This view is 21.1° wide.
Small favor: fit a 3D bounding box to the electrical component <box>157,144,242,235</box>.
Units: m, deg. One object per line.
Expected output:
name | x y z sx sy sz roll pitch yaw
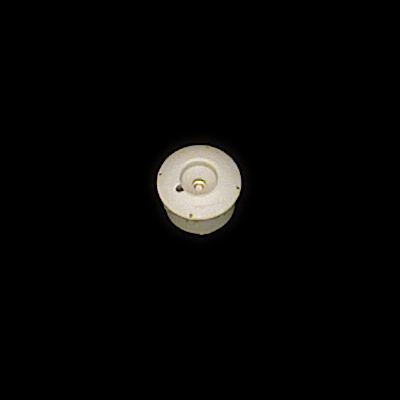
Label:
electrical component | 0.000 0.000 0.632 0.048 0.048 0.062 0 -27 0
